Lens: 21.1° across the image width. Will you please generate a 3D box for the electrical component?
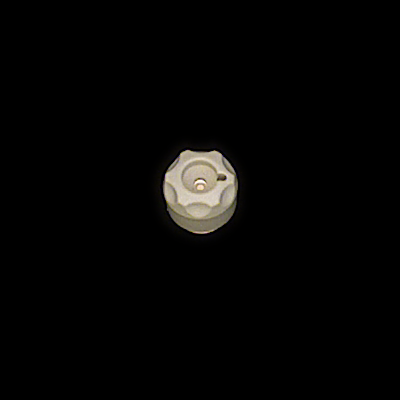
[{"bbox_3d":[0.000,0.000,0.634,0.043,0.043,0.062,0,-26,1],"label":"electrical component"}]
